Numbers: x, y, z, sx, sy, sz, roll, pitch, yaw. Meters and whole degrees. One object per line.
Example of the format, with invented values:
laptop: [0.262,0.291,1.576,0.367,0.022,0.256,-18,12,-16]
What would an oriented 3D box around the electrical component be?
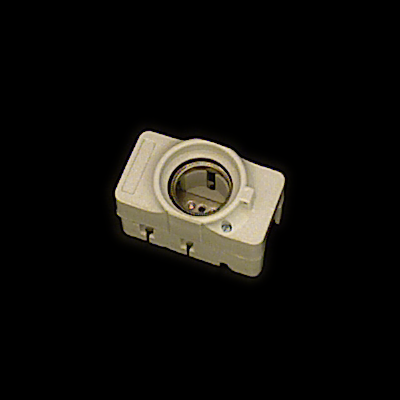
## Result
electrical component: [0.000,0.000,0.636,0.089,0.050,0.055,18,-25,9]
